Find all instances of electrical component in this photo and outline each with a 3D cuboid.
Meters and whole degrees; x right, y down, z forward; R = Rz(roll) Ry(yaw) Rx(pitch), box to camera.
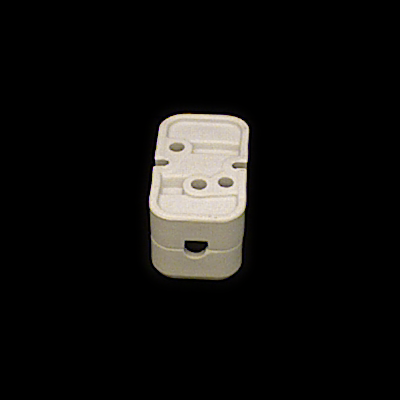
[{"bbox_3d":[0.000,0.000,0.639,0.054,0.060,0.094,2,42,2],"label":"electrical component"}]
